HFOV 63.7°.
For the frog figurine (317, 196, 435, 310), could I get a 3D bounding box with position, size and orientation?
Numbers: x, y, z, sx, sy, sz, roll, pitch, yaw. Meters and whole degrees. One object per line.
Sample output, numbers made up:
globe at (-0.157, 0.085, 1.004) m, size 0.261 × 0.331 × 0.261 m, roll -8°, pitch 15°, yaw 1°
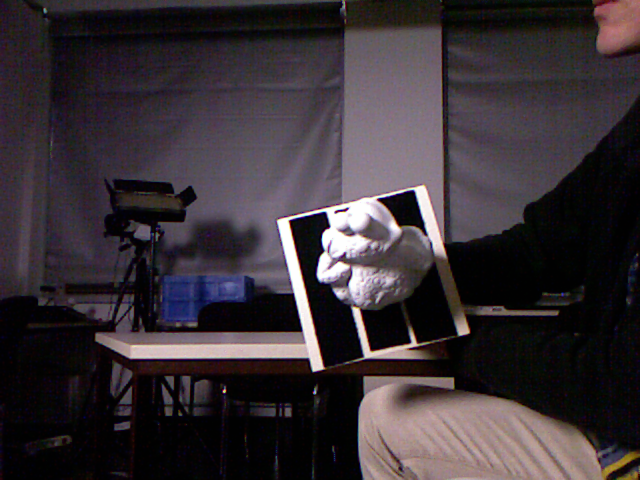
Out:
frog figurine at (0.065, 0.017, 0.591) m, size 0.138 × 0.124 × 0.158 m, roll -2°, pitch -11°, yaw 0°
